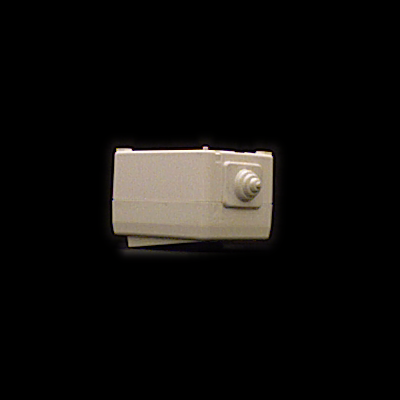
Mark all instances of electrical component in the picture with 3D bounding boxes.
[{"bbox_3d":[0.000,0.000,0.647,0.096,0.061,0.062,2,1,44],"label":"electrical component"}]
